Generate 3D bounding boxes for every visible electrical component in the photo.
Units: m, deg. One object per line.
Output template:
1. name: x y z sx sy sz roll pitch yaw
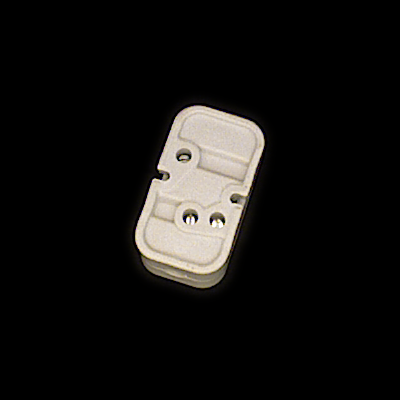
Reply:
1. electrical component: 0.000 0.000 0.635 0.053 0.095 0.059 17 -16 5
